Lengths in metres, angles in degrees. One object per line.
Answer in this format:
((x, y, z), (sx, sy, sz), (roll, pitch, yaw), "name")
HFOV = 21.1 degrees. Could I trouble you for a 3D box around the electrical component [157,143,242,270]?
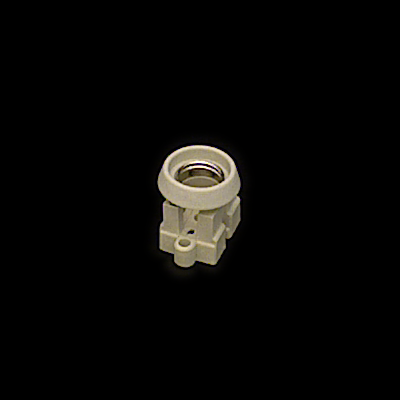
((0.000, 0.000, 0.641), (0.048, 0.056, 0.066), (16, 45, 13), "electrical component")
